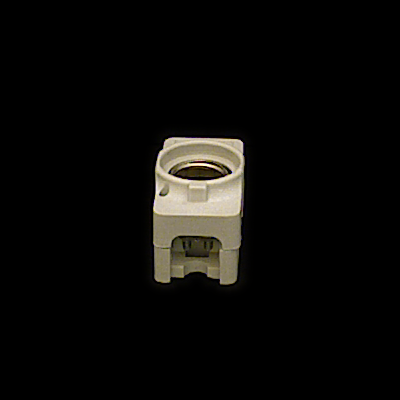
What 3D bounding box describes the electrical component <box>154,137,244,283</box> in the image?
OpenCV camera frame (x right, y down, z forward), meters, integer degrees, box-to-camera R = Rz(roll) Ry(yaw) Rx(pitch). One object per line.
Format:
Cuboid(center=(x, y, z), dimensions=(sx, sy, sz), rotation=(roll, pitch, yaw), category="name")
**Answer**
Cuboid(center=(0.000, 0.000, 0.642), dimensions=(0.050, 0.056, 0.088), rotation=(2, 32, 2), category="electrical component")
